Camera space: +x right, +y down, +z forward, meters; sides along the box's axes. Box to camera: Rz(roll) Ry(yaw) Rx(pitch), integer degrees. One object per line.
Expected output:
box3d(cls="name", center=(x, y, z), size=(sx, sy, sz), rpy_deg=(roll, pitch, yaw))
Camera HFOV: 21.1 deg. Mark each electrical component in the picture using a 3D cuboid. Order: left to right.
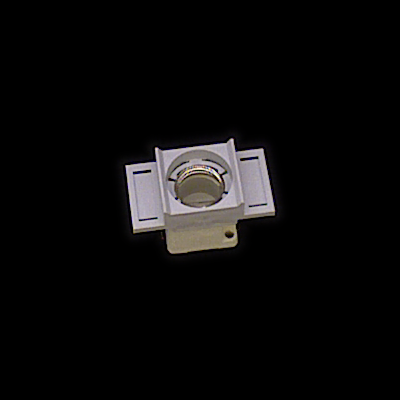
box3d(cls="electrical component", center=(0.000, 0.000, 0.625), size=(0.081, 0.042, 0.063), rpy_deg=(-7, -28, -3))
